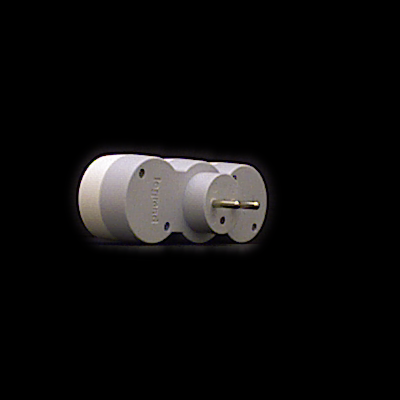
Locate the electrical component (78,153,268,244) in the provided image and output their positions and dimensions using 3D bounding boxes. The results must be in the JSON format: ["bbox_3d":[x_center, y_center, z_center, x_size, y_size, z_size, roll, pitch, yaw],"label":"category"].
[{"bbox_3d":[0.000,0.000,0.653,0.073,0.052,0.138,4,1,39],"label":"electrical component"}]
